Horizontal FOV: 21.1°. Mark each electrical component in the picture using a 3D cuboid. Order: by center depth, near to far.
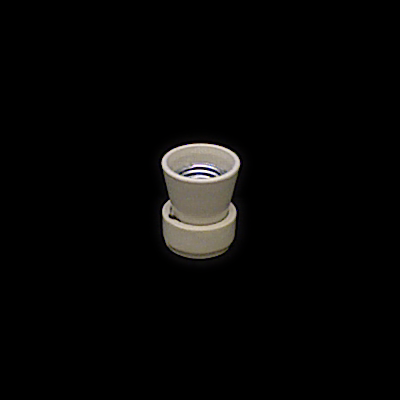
[{"bbox_3d":[0.000,0.000,0.635,0.045,0.056,0.044,1,32,0],"label":"electrical component"}]
